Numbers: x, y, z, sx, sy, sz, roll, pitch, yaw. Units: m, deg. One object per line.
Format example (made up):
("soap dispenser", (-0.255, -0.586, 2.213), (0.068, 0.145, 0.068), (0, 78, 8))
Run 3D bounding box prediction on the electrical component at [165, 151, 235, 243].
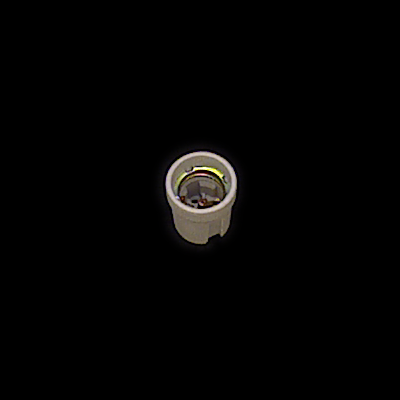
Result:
("electrical component", (0.000, 0.000, 0.629), (0.040, 0.040, 0.046), (0, -28, 0))
